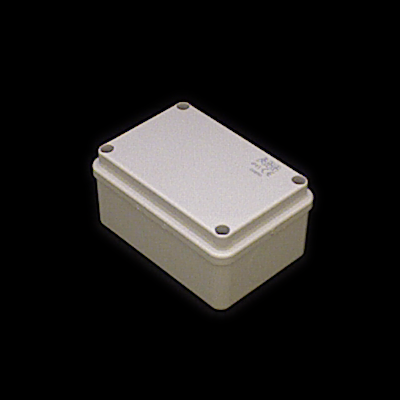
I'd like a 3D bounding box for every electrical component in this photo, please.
[{"bbox_3d":[0.000,0.000,0.632,0.078,0.057,0.112,-33,52,-31],"label":"electrical component"}]
